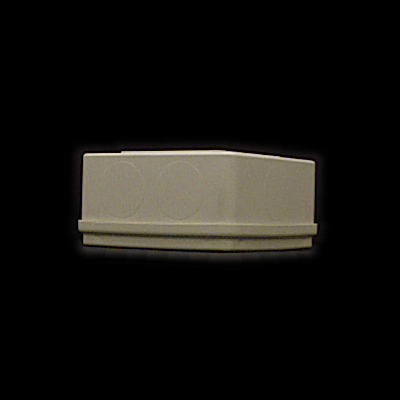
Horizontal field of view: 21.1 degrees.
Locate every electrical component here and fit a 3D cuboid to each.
[{"bbox_3d":[0.000,0.000,0.648,0.108,0.056,0.109,1,1,33],"label":"electrical component"}]
